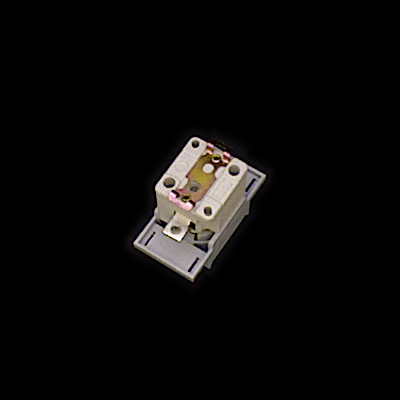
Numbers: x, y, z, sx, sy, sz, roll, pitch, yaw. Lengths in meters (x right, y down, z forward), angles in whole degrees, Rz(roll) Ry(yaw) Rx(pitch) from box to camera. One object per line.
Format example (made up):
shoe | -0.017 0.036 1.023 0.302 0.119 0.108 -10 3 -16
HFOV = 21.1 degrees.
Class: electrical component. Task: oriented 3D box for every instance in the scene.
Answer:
electrical component | 0.000 0.000 0.626 0.042 0.081 0.063 29 -23 14
